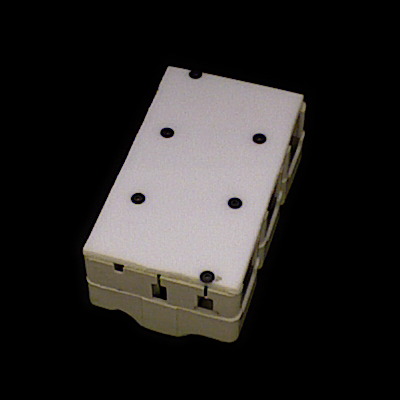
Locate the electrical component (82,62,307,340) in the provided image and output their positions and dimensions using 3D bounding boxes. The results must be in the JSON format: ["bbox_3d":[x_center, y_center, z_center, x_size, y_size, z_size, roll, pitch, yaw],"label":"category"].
[{"bbox_3d":[0.000,0.000,0.635,0.089,0.148,0.063,14,-37,10],"label":"electrical component"}]
